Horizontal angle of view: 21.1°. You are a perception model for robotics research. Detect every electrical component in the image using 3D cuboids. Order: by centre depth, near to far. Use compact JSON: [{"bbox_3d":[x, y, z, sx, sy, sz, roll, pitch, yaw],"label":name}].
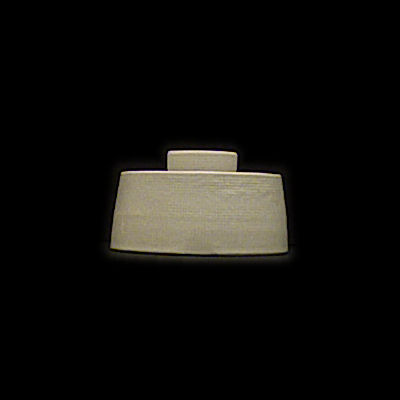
[{"bbox_3d":[0.000,0.000,0.655,0.108,0.060,0.108,1,1,0],"label":"electrical component"}]
